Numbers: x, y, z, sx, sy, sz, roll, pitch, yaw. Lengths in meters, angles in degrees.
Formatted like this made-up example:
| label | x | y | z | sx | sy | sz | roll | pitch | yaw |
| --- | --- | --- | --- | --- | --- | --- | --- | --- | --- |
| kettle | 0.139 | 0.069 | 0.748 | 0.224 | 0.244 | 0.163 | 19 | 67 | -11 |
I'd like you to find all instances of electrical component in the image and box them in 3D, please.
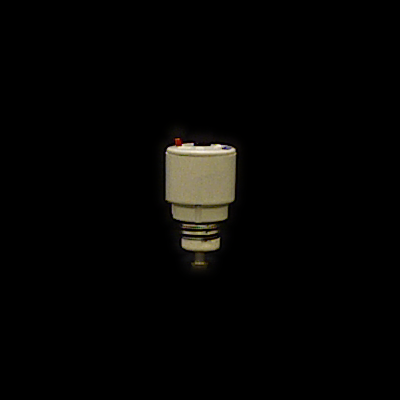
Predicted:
| label | x | y | z | sx | sy | sz | roll | pitch | yaw |
| --- | --- | --- | --- | --- | --- | --- | --- | --- | --- |
| electrical component | 0.000 | 0.000 | 0.643 | 0.040 | 0.079 | 0.040 | 1 | 11 | 0 |
